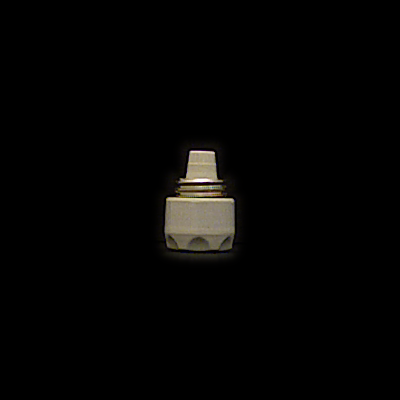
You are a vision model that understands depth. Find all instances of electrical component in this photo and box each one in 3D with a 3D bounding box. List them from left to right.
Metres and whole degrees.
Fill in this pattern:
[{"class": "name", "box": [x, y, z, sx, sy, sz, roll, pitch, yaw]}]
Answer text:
[{"class": "electrical component", "box": [0.000, 0.000, 0.655, 0.043, 0.062, 0.043, 2, 3, 0]}]
